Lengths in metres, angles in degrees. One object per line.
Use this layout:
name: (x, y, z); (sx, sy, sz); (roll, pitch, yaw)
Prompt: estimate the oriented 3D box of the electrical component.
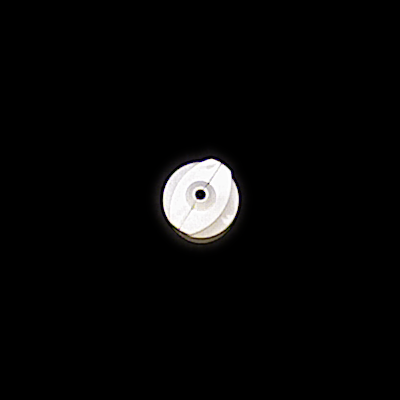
electrical component: (0.000, 0.000, 0.616); (0.043, 0.043, 0.080); (0, -6, 1)
